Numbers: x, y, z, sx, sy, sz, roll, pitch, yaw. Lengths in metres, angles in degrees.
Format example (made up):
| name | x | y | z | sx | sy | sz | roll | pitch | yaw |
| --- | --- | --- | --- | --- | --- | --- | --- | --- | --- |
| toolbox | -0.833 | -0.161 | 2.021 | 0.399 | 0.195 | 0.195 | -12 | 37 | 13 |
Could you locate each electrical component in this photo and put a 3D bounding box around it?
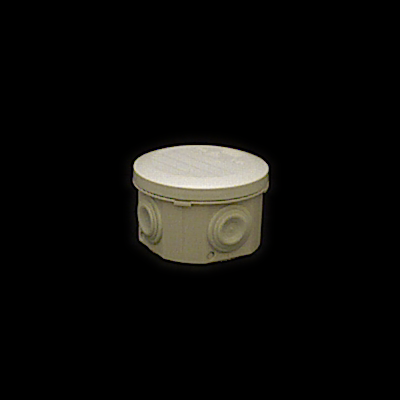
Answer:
| name | x | y | z | sx | sy | sz | roll | pitch | yaw |
| --- | --- | --- | --- | --- | --- | --- | --- | --- | --- |
| electrical component | 0.000 | 0.000 | 0.639 | 0.080 | 0.051 | 0.079 | 1 | 21 | 0 |
